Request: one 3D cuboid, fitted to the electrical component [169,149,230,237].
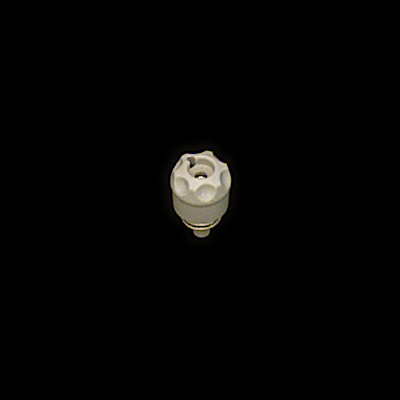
[{"bbox_3d":[0.000,0.000,0.636,0.035,0.035,0.062,0,-37,0],"label":"electrical component"}]
